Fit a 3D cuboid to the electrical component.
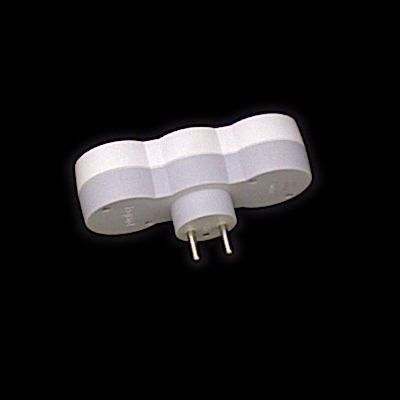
[{"bbox_3d":[0.000,0.000,0.631,0.138,0.074,0.052,-11,-25,-7],"label":"electrical component"}]
